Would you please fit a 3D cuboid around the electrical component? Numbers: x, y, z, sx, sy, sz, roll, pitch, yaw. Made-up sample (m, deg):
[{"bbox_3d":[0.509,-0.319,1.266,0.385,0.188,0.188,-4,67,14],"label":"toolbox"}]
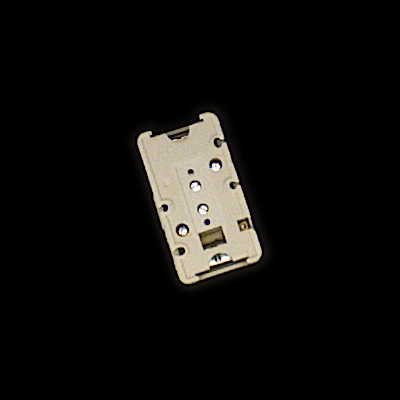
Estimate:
[{"bbox_3d":[0.000,0.000,0.637,0.050,0.090,0.055,-18,-5,-2],"label":"electrical component"}]
